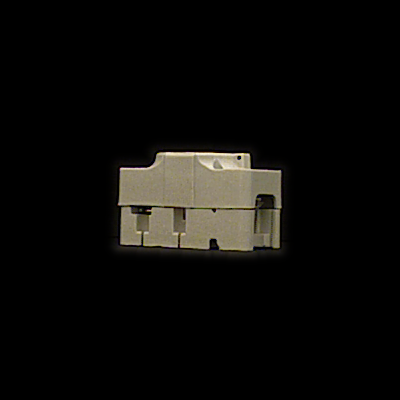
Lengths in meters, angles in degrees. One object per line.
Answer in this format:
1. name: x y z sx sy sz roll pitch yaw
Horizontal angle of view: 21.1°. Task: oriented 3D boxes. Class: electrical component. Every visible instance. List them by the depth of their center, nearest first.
1. electrical component: 0.000 0.000 0.656 0.089 0.056 0.050 2 1 29
